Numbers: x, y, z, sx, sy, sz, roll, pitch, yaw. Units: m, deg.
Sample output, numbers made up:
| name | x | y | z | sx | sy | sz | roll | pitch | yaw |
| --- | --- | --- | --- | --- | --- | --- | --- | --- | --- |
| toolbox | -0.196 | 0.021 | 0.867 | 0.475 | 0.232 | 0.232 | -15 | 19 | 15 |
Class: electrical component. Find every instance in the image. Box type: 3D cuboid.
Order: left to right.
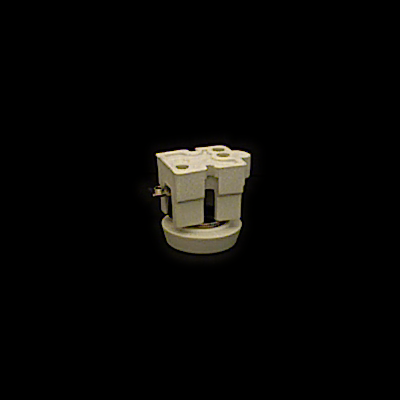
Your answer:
| name | x | y | z | sx | sy | sz | roll | pitch | yaw |
| --- | --- | --- | --- | --- | --- | --- | --- | --- | --- |
| electrical component | 0.000 | 0.000 | 0.648 | 0.067 | 0.056 | 0.047 | -8 | 25 | -19 |
